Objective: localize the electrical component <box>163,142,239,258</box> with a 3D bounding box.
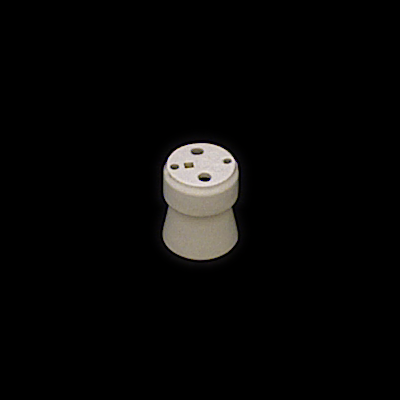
[{"bbox_3d":[0.000,0.000,0.633,0.045,0.055,0.044,1,42,-1],"label":"electrical component"}]
